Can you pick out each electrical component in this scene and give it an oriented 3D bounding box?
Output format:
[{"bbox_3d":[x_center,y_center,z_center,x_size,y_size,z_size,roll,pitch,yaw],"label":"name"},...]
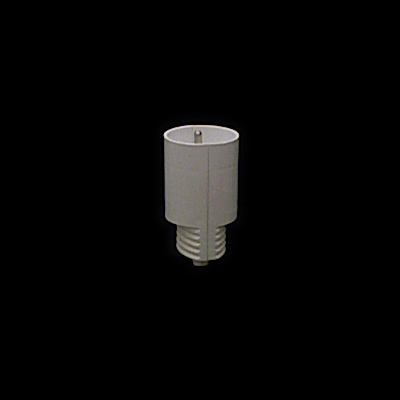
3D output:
[{"bbox_3d":[0.000,0.000,0.635,0.043,0.082,0.042,1,20,0],"label":"electrical component"}]
